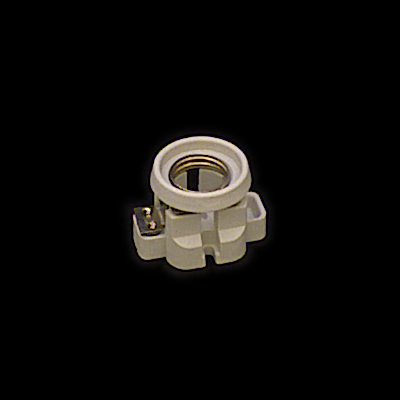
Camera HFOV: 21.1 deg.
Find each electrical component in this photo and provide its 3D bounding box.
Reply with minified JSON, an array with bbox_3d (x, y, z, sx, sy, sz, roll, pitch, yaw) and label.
[{"bbox_3d":[0.000,0.000,0.630,0.079,0.057,0.057,-10,43,-11],"label":"electrical component"}]
